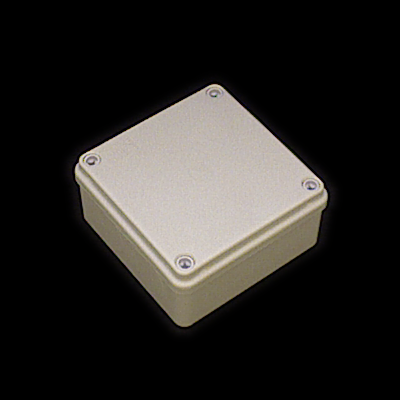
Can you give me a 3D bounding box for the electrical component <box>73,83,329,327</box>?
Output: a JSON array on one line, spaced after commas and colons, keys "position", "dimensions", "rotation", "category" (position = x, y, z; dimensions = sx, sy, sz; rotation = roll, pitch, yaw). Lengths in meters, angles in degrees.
[{"position": [0.000, 0.000, 0.630], "dimensions": [0.109, 0.108, 0.056], "rotation": [-31, -31, -22], "category": "electrical component"}]
